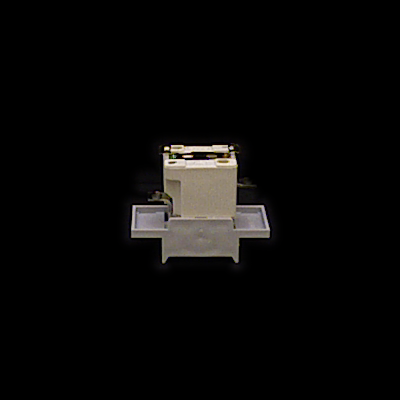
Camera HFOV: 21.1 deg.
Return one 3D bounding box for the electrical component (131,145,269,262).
[{"bbox_3d":[0.000,0.000,0.638,0.081,0.064,0.041,0,21,-3],"label":"electrical component"}]
